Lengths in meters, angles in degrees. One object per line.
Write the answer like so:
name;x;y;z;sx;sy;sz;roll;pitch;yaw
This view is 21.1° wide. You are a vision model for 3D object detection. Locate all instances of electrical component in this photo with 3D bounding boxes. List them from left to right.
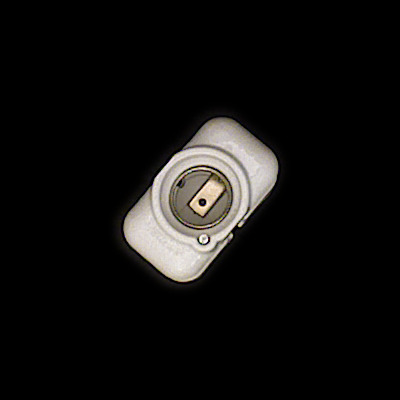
electrical component;0.000;0.000;0.635;0.054;0.095;0.059;39;-4;4
